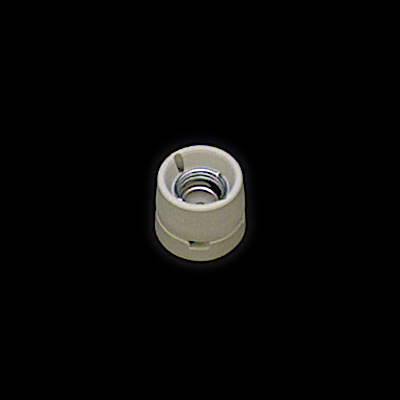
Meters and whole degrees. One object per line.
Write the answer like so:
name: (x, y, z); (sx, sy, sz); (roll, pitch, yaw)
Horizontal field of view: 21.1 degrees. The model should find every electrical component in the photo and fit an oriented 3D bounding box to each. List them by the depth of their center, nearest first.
electrical component: (0.000, 0.000, 0.635); (0.055, 0.055, 0.047); (0, -38, 0)
